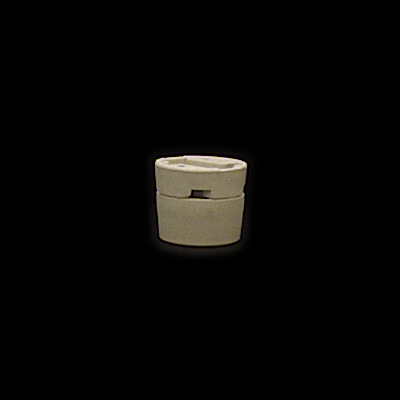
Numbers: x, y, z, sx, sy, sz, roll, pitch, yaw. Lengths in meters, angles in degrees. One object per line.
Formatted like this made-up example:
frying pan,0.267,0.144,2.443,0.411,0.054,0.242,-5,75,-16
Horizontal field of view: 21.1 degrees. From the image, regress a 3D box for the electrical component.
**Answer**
electrical component,0.000,0.000,0.646,0.055,0.047,0.055,1,11,0
